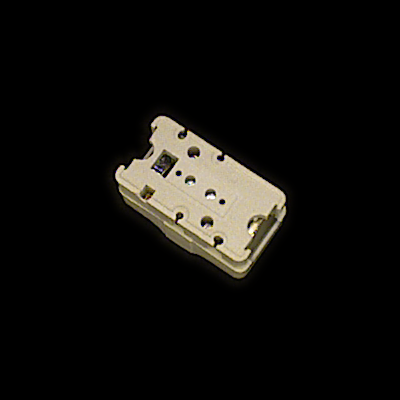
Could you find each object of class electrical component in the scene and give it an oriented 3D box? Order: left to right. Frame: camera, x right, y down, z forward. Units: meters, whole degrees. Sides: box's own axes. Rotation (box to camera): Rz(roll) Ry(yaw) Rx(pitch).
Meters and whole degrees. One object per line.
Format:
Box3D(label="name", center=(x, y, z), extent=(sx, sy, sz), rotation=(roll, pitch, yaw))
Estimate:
Box3D(label="electrical component", center=(0.000, 0.000, 0.636), extent=(0.089, 0.050, 0.055), rotation=(33, -12, 10))
